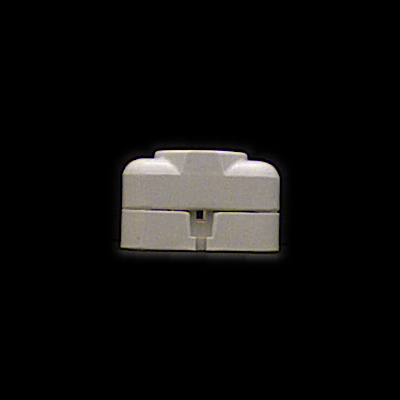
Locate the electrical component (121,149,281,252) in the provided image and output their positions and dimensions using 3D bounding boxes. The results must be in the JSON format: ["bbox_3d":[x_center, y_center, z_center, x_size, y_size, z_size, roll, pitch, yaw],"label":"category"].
[{"bbox_3d":[0.000,0.000,0.658,0.095,0.059,0.053,2,2,-4],"label":"electrical component"}]
